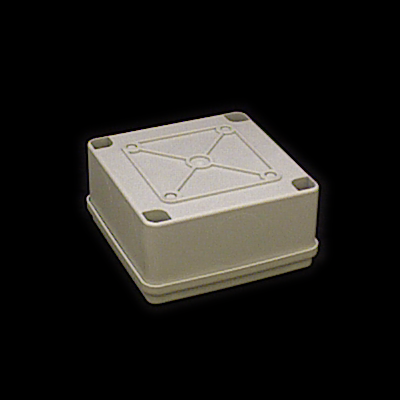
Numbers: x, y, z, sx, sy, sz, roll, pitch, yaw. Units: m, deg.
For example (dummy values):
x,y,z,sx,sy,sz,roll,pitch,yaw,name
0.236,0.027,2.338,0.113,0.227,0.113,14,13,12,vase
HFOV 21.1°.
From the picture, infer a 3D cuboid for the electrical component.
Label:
x,y,z,sx,sy,sz,roll,pitch,yaw,name
0.000,0.000,0.632,0.109,0.057,0.107,-13,34,-20,electrical component
